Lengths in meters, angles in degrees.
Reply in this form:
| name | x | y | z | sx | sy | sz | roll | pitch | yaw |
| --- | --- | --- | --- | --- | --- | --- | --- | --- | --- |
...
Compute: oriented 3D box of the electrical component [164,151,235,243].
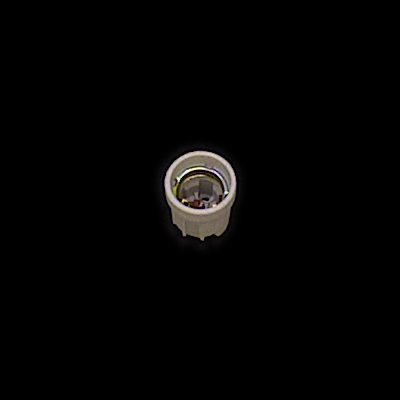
| name | x | y | z | sx | sy | sz | roll | pitch | yaw |
| --- | --- | --- | --- | --- | --- | --- | --- | --- | --- |
| electrical component | 0.000 | 0.000 | 0.627 | 0.040 | 0.040 | 0.046 | 0 | -27 | 0 |
